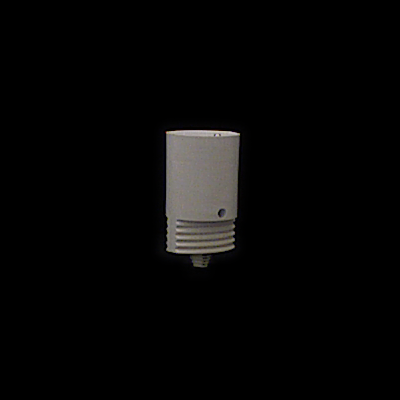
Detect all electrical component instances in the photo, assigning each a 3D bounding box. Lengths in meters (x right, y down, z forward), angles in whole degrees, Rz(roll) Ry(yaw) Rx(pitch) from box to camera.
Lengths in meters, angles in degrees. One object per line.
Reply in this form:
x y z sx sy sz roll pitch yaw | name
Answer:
0.000 0.000 0.645 0.043 0.082 0.042 2 11 0 | electrical component
